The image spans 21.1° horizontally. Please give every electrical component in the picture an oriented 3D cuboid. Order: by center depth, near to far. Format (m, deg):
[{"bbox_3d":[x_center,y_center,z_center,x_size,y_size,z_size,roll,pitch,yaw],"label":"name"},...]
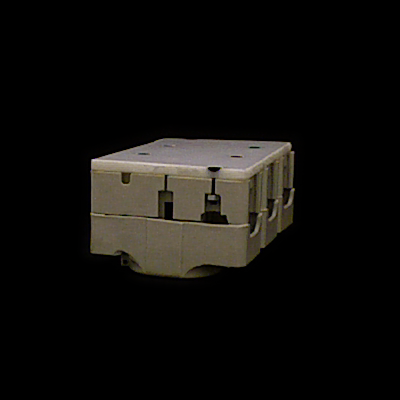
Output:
[{"bbox_3d":[0.000,0.000,0.654,0.089,0.062,0.149,4,10,14],"label":"electrical component"}]
